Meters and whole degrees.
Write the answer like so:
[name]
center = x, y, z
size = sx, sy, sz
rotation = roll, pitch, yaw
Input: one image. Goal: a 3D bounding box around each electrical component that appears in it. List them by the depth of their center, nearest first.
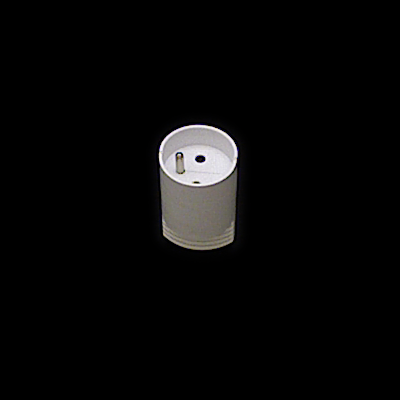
[electrical component]
center = 0.000, 0.000, 0.618
size = 0.043, 0.043, 0.081
rotation = 0, -39, 0
